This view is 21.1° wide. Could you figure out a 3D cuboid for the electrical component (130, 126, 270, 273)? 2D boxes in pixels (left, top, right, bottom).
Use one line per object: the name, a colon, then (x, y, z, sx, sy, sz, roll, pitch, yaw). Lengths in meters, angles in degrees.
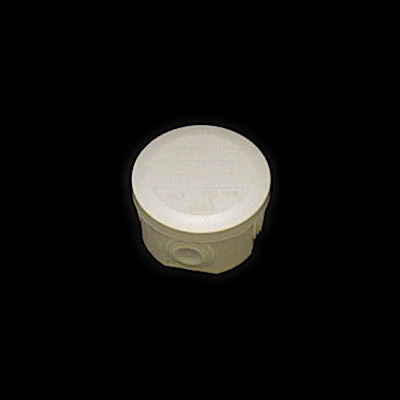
electrical component: (0.000, 0.000, 0.631, 0.080, 0.080, 0.051, 0, -38, 0)
